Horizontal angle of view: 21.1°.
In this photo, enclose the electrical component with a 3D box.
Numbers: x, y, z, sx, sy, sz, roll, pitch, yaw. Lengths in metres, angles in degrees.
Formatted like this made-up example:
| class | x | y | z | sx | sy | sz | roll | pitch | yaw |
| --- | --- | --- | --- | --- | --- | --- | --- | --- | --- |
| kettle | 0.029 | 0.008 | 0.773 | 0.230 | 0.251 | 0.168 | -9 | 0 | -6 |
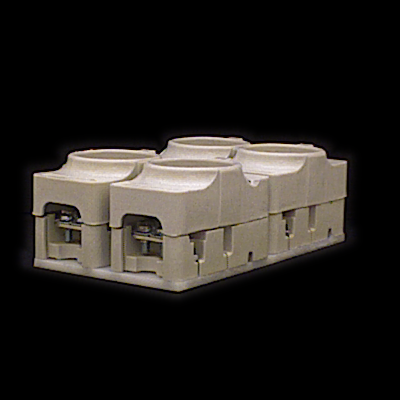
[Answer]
| class | x | y | z | sx | sy | sz | roll | pitch | yaw |
| --- | --- | --- | --- | --- | --- | --- | --- | --- | --- |
| electrical component | 0.000 | 0.000 | 0.645 | 0.105 | 0.060 | 0.186 | 8 | 12 | 35 |
